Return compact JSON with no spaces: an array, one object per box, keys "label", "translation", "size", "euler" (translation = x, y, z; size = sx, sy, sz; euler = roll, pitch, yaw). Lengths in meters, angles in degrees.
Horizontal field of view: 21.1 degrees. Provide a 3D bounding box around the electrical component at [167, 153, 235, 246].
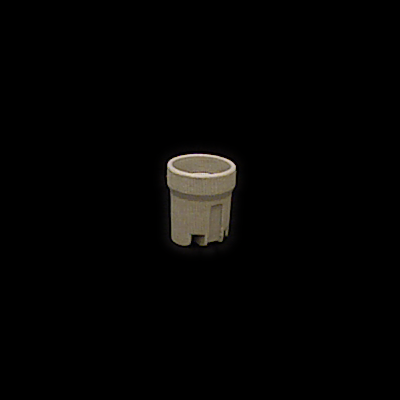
[{"label":"electrical component","translation":[0.000,0.000,0.638],"size":[0.040,0.047,0.039],"euler":[1,21,0]}]
